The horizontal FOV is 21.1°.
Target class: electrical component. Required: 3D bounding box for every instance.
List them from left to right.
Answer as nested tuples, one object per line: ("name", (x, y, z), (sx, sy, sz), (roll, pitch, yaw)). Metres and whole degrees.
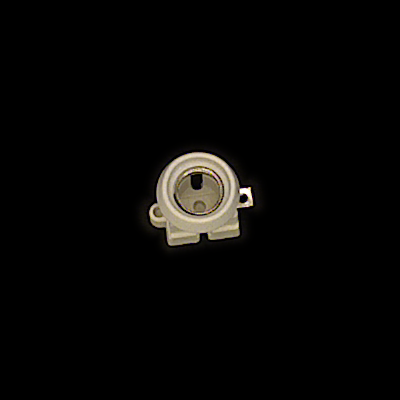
("electrical component", (0.000, 0.000, 0.638), (0.066, 0.048, 0.055), (-9, -14, -3))
